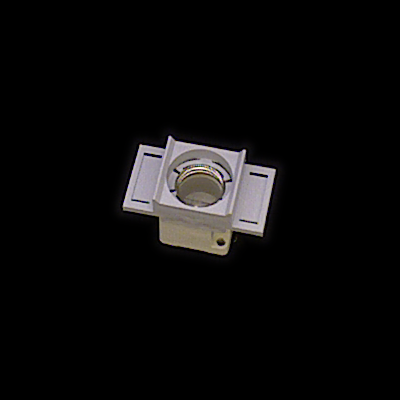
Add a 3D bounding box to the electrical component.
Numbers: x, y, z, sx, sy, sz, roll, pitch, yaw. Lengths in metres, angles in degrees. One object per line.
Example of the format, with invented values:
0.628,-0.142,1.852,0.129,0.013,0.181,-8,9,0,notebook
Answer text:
0.000,0.000,0.624,0.081,0.042,0.063,11,-28,6,electrical component
